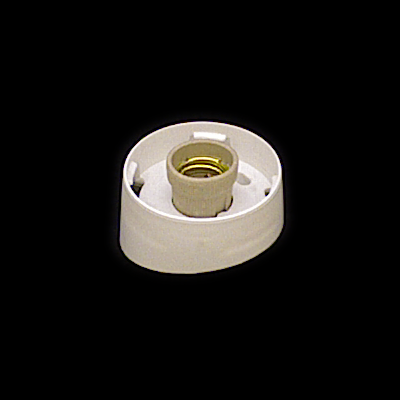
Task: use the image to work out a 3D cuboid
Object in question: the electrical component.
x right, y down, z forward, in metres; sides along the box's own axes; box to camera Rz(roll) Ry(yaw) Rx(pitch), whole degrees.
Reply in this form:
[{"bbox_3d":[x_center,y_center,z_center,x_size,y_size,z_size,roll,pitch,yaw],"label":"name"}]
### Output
[{"bbox_3d":[0.000,0.000,0.629,0.099,0.065,0.098,0,42,0],"label":"electrical component"}]
